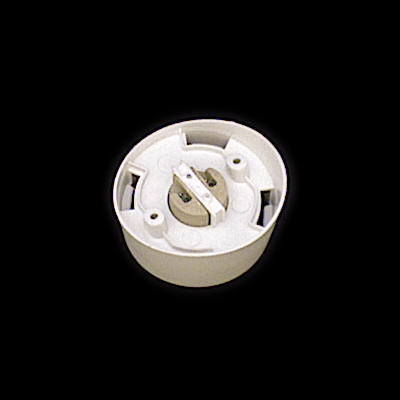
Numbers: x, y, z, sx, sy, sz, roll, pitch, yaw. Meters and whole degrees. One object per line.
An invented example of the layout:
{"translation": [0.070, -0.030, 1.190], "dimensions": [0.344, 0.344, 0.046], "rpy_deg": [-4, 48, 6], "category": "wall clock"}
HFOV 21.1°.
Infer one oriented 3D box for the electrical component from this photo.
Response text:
{"translation": [0.000, 0.000, 0.624], "dimensions": [0.099, 0.099, 0.064], "rpy_deg": [0, -27, -1], "category": "electrical component"}
